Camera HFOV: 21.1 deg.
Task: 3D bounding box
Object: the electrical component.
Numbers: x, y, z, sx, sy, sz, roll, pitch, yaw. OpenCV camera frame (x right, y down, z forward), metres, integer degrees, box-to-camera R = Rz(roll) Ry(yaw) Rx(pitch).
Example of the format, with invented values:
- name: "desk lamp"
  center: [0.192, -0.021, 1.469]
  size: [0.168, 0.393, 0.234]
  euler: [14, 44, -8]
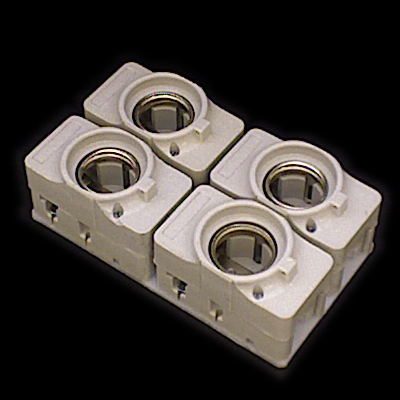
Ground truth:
- name: "electrical component"
  center: [0.000, 0.000, 0.628]
  size: [0.185, 0.105, 0.060]
  euler: [30, -32, 20]
